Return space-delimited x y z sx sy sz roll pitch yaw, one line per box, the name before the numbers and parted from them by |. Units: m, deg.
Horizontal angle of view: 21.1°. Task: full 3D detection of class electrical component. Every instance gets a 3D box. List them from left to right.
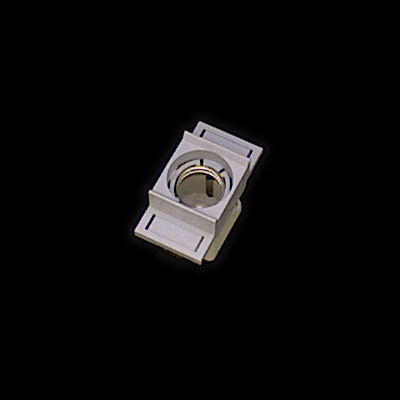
electrical component | 0.000 0.000 0.623 0.042 0.081 0.063 25 -25 11
